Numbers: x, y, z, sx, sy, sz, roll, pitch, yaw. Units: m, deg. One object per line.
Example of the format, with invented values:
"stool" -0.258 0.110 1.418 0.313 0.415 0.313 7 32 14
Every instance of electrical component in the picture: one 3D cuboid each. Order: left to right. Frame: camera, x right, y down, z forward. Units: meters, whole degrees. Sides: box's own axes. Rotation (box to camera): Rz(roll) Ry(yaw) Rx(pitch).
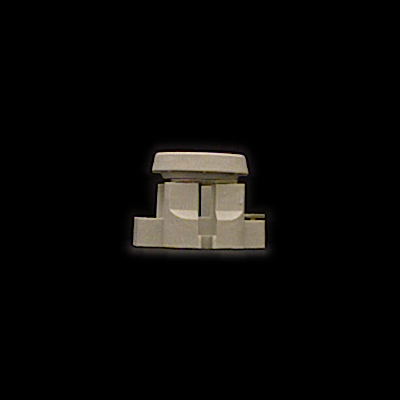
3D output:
"electrical component" 0.000 0.000 0.651 0.078 0.057 0.058 1 1 -10
